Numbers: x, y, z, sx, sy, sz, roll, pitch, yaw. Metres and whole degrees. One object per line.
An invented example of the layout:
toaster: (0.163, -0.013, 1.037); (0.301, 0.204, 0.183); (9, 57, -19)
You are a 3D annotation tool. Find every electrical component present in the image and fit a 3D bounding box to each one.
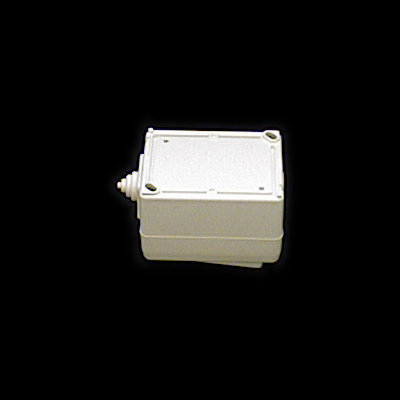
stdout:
electrical component: (0.000, 0.000, 0.629); (0.096, 0.061, 0.061); (1, 42, 0)
